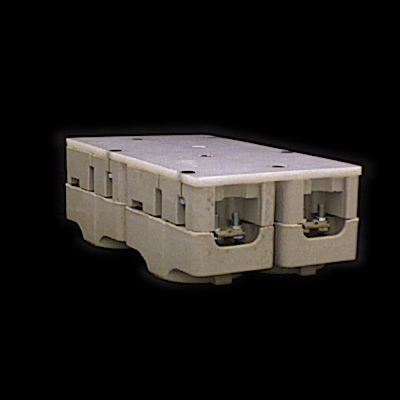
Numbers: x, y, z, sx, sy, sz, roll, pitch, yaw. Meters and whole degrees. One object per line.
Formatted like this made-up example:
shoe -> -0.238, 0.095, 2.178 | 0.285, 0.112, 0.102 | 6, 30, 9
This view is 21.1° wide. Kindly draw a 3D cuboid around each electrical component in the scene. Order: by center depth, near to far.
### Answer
electrical component -> 0.000, 0.000, 0.644 | 0.105, 0.060, 0.184 | -4, 11, -28
